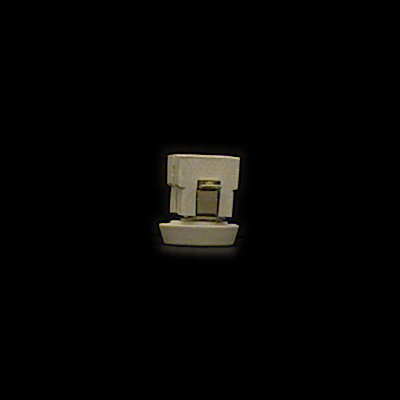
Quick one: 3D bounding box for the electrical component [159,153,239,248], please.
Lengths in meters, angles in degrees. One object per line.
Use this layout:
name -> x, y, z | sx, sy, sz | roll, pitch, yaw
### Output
electrical component -> 0.000, 0.000, 0.657 | 0.049, 0.055, 0.066 | 2, 2, -11
